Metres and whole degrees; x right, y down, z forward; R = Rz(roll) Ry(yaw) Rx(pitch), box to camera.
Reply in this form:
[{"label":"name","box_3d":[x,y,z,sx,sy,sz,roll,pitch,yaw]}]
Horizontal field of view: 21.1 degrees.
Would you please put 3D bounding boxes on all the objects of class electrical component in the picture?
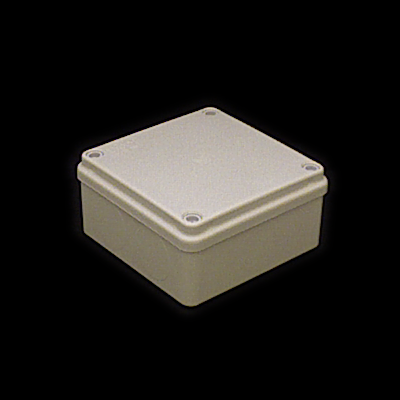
[{"label":"electrical component","box_3d":[0.000,0.000,0.635,0.108,0.057,0.107,-23,40,-34]}]
